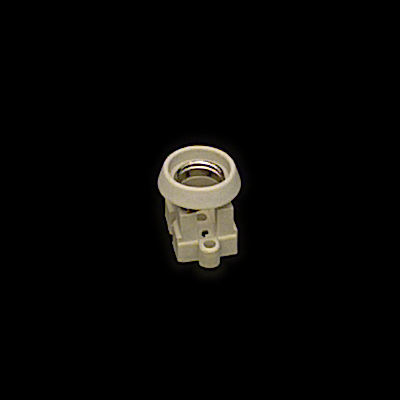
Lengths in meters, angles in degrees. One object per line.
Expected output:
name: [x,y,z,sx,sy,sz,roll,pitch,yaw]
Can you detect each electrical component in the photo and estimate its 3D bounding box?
electrical component: [0.000,0.000,0.640,0.048,0.056,0.065,-8,43,-12]
